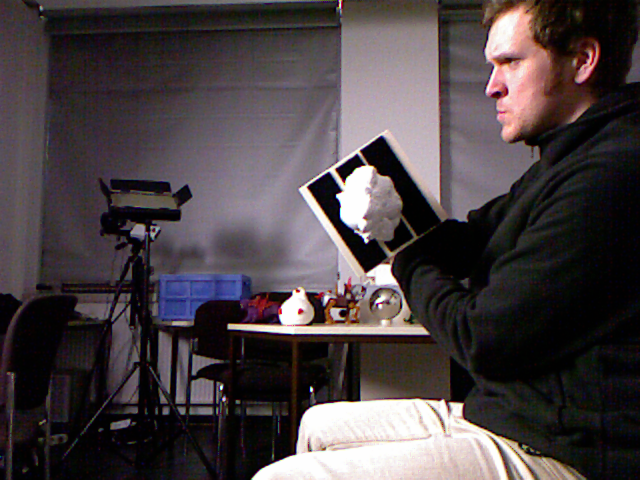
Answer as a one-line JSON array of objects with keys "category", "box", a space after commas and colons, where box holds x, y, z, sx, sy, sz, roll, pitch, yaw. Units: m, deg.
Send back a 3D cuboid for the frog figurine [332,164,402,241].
[{"category": "frog figurine", "box": [0.088, -0.065, 0.892, 0.123, 0.138, 0.160, -12, -1, -4]}]
